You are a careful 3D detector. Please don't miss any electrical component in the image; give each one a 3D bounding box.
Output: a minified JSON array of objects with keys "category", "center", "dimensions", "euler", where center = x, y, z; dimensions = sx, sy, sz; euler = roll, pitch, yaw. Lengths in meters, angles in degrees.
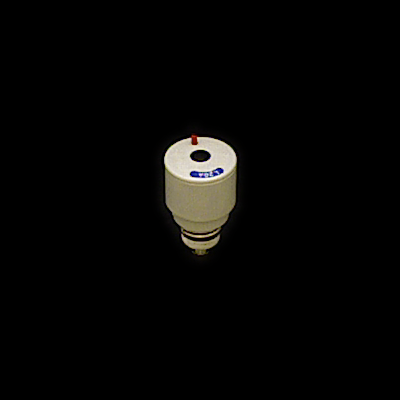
[{"category":"electrical component","center":[0.000,0.000,0.626],"dimensions":[0.040,0.079,0.039],"euler":[0,41,0]}]
